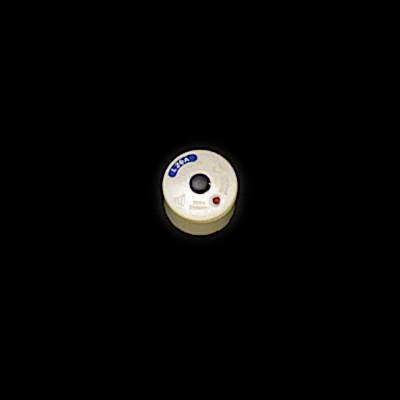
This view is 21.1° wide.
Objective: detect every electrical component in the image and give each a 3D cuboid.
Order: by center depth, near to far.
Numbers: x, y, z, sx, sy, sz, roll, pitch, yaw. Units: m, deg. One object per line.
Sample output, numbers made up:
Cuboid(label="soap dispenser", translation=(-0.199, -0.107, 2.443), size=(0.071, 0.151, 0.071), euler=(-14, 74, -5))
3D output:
Cuboid(label="electrical component", translation=(0.000, 0.000, 0.616), size=(0.040, 0.040, 0.078), euler=(0, -16, 0))
